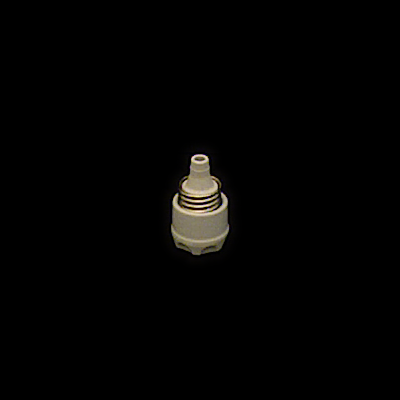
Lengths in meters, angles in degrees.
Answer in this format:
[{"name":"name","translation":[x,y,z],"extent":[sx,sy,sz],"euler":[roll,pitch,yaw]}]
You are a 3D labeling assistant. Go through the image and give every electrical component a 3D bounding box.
[{"name":"electrical component","translation":[0.000,0.000,0.647],"extent":[0.035,0.062,0.034],"euler":[0,34,0]}]
